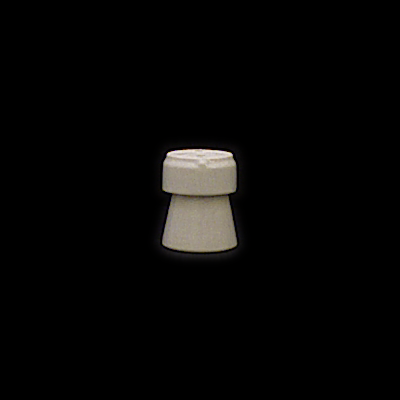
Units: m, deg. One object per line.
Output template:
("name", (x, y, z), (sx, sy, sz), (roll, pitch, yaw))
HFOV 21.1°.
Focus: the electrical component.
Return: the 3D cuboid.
("electrical component", (0.000, 0.000, 0.644), (0.045, 0.055, 0.044), (1, 11, 0))
